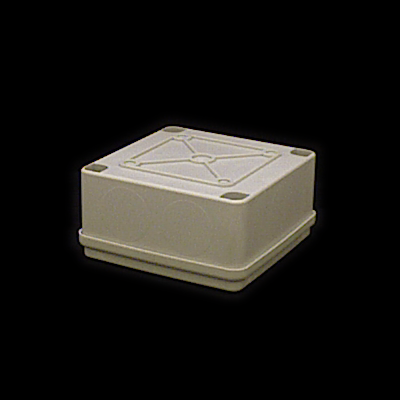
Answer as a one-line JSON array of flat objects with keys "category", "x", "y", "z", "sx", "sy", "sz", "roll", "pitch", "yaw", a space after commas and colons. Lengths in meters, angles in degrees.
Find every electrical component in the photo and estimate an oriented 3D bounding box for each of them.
[{"category": "electrical component", "x": 0.000, "y": 0.000, "z": 0.637, "sx": 0.108, "sy": 0.057, "sz": 0.108, "roll": 12, "pitch": 24, "yaw": 26}]
